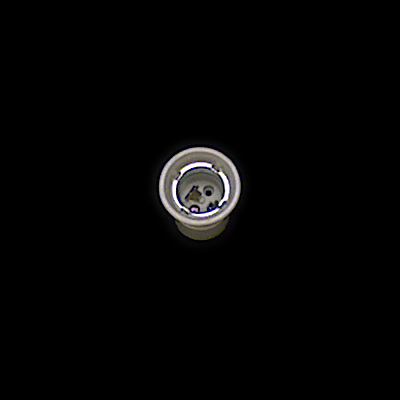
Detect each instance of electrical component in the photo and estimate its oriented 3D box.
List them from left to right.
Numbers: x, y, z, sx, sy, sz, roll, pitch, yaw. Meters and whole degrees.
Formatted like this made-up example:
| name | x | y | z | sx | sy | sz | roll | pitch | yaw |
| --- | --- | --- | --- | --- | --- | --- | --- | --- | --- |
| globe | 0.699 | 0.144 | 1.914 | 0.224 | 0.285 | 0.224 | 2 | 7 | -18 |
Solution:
| name | x | y | z | sx | sy | sz | roll | pitch | yaw |
| --- | --- | --- | --- | --- | --- | --- | --- | --- | --- |
| electrical component | 0.000 | 0.000 | 0.624 | 0.044 | 0.044 | 0.065 | 0 | -16 | 1 |
